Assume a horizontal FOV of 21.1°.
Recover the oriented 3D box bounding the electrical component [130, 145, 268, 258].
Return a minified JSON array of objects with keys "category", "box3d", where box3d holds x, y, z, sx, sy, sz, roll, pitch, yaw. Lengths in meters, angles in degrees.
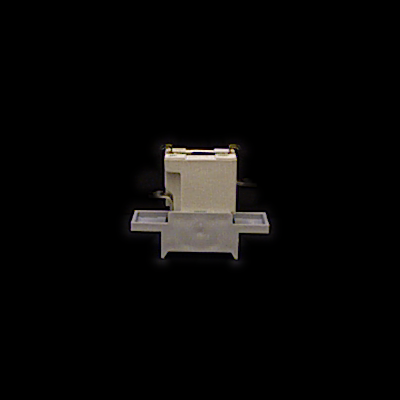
[{"category":"electrical component","box3d":[0.000,0.000,0.643,0.081,0.064,0.042,1,11,-1]}]
